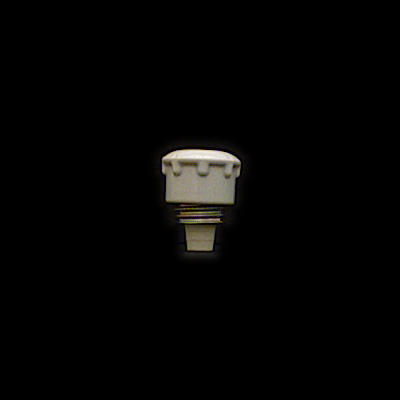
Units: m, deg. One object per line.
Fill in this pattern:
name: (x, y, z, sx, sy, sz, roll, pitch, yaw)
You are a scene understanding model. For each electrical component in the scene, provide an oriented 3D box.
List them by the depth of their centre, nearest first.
electrical component: (0.000, 0.000, 0.656, 0.048, 0.062, 0.048, 2, 2, 1)
